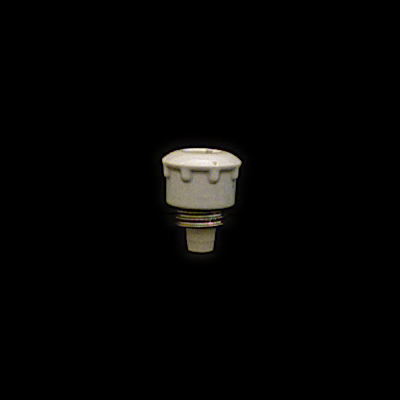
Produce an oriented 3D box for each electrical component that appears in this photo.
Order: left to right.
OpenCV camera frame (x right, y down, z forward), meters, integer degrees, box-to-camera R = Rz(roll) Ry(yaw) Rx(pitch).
[{"bbox_3d":[0.000,0.000,0.652,0.048,0.062,0.048,1,11,0],"label":"electrical component"}]
